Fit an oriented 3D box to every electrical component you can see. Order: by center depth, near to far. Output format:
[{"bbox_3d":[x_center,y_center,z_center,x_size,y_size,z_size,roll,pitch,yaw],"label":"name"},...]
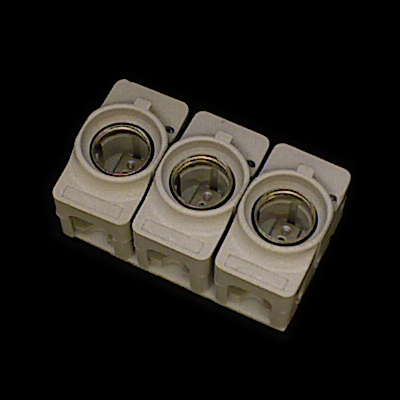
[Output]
[{"bbox_3d":[0.000,0.000,0.632,0.150,0.089,0.062,23,-26,11],"label":"electrical component"}]
